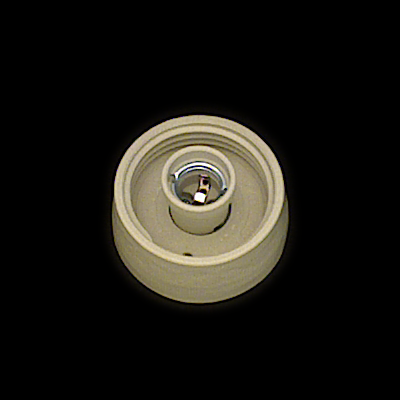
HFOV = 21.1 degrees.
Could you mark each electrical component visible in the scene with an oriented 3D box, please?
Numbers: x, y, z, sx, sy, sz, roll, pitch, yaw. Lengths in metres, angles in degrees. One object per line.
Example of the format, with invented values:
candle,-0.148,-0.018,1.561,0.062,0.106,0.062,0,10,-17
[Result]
electrical component,0.000,0.000,0.633,0.108,0.108,0.060,0,-26,0
